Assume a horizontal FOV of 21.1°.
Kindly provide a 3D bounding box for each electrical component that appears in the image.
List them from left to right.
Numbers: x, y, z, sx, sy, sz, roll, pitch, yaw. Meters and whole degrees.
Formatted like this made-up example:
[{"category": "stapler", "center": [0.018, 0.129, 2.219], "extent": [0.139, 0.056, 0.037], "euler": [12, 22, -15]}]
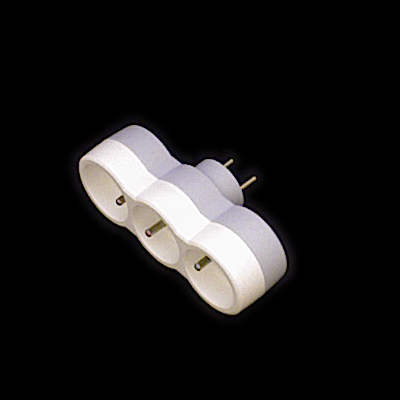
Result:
[{"category": "electrical component", "center": [0.000, 0.000, 0.633], "extent": [0.137, 0.052, 0.074], "euler": [38, 59, 26]}]
